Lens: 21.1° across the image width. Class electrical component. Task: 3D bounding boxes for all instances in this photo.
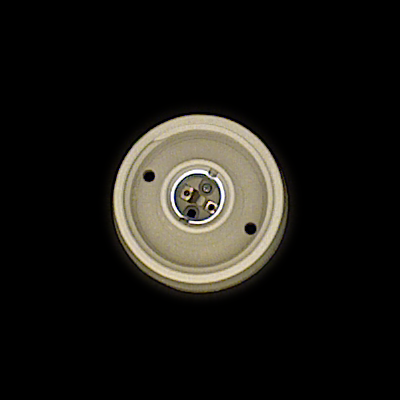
[{"bbox_3d":[0.000,0.000,0.635,0.108,0.108,0.060,0,-6,0],"label":"electrical component"}]
